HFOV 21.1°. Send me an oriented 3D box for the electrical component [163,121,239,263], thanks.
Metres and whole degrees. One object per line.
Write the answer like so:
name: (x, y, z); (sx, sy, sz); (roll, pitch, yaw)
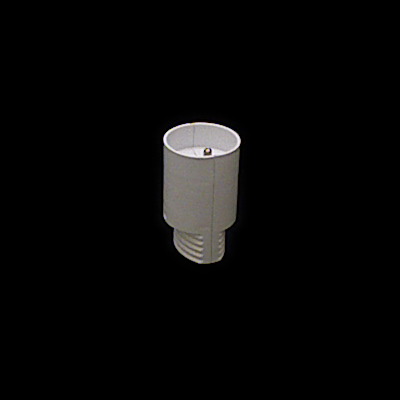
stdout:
electrical component: (0.000, 0.000, 0.627); (0.043, 0.082, 0.042); (0, 32, 0)
